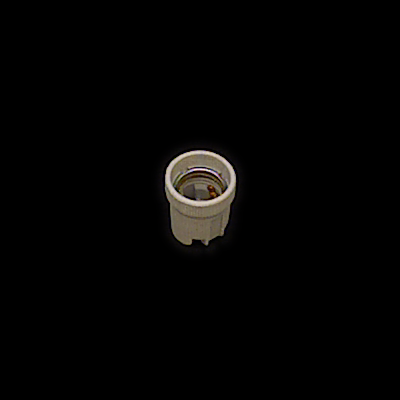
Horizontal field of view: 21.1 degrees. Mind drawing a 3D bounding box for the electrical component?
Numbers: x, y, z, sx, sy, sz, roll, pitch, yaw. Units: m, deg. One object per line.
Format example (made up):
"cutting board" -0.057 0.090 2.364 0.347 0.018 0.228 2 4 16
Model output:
"electrical component" 0.000 0.000 0.629 0.040 0.040 0.046 0 -38 -1
